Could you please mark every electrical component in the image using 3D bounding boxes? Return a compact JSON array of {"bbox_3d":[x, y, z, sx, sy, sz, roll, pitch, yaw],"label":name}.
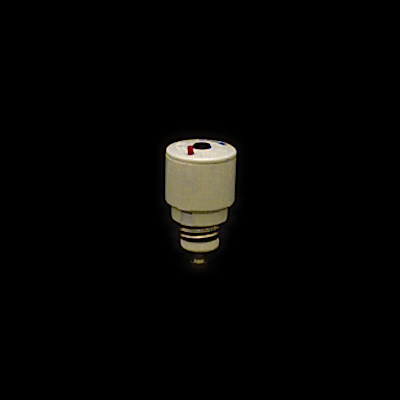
[{"bbox_3d":[0.000,0.000,0.633,0.040,0.079,0.039,1,22,0],"label":"electrical component"}]
